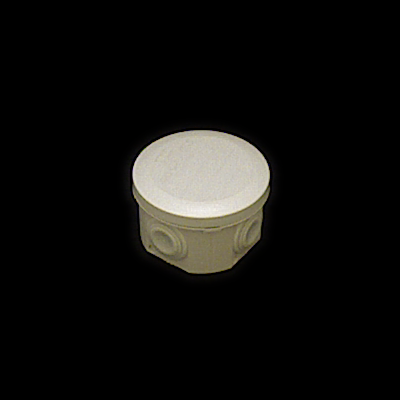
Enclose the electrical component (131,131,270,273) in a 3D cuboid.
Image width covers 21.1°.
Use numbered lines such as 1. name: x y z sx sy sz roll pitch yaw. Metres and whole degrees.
1. electrical component: 0.000 0.000 0.635 0.080 0.051 0.079 1 42 0
